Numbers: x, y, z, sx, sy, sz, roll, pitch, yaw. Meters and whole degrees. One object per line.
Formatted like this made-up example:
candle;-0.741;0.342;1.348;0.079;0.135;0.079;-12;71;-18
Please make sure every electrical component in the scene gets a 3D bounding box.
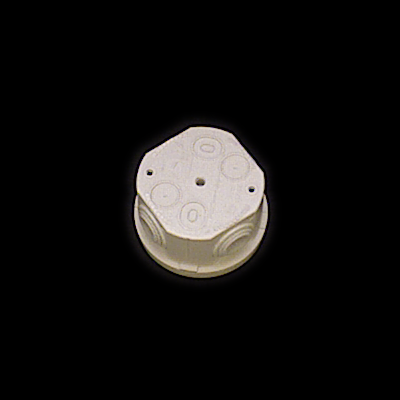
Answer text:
electrical component;0.000;0.000;0.631;0.080;0.080;0.050;0;-27;1
